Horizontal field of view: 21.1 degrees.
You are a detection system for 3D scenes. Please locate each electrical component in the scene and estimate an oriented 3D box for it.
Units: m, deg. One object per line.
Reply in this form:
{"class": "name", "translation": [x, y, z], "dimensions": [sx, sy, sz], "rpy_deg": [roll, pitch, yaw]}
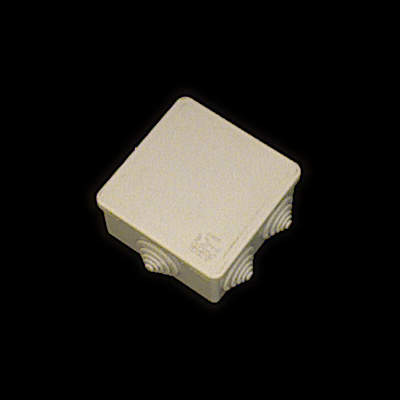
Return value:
{"class": "electrical component", "translation": [0.000, 0.000, 0.639], "dimensions": [0.099, 0.100, 0.048], "rpy_deg": [33, -22, 15]}
